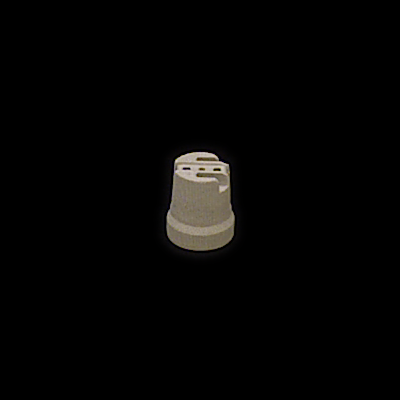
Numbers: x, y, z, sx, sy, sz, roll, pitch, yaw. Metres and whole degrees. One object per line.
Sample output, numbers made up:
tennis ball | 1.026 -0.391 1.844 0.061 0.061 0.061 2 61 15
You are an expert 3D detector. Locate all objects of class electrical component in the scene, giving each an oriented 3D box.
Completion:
electrical component | 0.000 0.000 0.637 0.040 0.046 0.040 0 32 0
